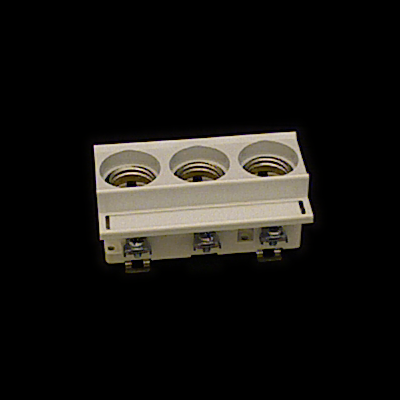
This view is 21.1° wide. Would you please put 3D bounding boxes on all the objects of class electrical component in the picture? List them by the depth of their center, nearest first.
[{"bbox_3d":[0.000,0.000,0.643,0.121,0.064,0.077,-4,41,-5],"label":"electrical component"}]
